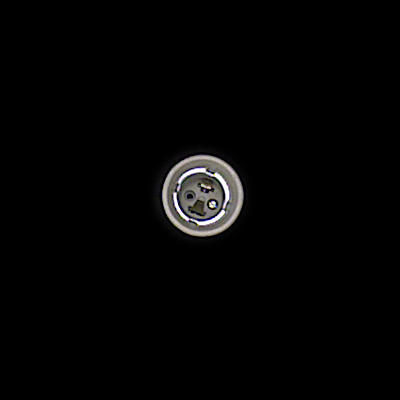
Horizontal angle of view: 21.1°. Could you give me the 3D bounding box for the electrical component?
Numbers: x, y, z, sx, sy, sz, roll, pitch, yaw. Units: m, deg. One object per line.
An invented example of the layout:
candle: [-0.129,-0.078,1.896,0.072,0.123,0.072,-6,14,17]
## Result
electrical component: [0.000,0.000,0.625,0.044,0.044,0.065,0,-6,-1]
